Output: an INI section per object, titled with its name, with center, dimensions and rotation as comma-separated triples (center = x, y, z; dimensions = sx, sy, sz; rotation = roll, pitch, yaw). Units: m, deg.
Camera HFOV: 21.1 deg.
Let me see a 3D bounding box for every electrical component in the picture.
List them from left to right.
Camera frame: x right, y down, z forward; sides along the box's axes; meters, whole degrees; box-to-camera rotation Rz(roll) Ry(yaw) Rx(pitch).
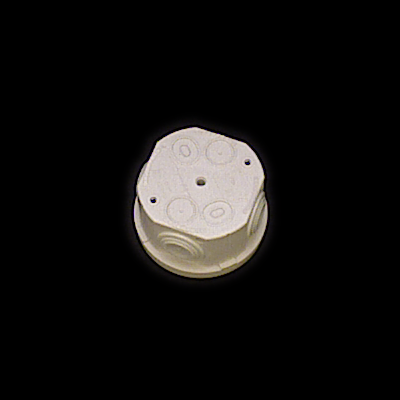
[electrical component]
center = 0.000, 0.000, 0.632
dimensions = 0.080, 0.080, 0.050
rotation = 0, -28, -1
